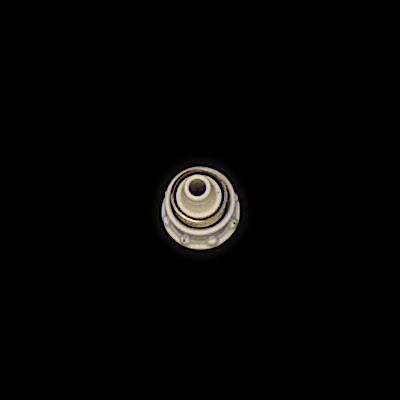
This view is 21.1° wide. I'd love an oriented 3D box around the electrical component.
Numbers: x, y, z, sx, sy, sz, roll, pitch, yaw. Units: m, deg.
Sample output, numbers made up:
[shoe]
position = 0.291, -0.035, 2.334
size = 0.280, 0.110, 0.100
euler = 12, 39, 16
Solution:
[electrical component]
position = 0.000, 0.000, 0.633
size = 0.048, 0.048, 0.061
euler = 0, -16, 2
